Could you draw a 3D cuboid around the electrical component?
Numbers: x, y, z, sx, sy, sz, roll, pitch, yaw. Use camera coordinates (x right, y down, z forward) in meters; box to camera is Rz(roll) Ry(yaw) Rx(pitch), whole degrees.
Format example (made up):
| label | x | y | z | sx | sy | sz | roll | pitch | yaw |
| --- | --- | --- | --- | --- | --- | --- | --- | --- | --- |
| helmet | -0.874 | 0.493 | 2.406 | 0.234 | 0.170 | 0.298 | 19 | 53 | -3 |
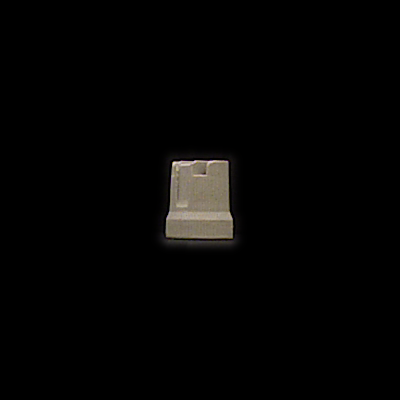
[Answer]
| label | x | y | z | sx | sy | sz | roll | pitch | yaw |
| --- | --- | --- | --- | --- | --- | --- | --- | --- | --- |
| electrical component | 0.000 | 0.000 | 0.650 | 0.040 | 0.046 | 0.040 | 1 | 1 | 0 |
